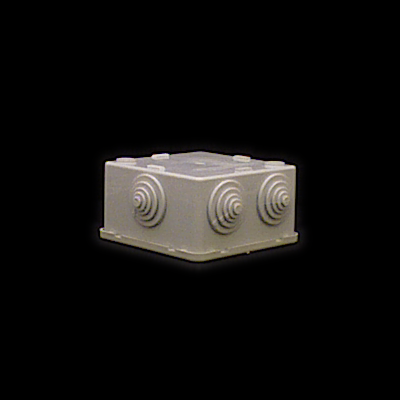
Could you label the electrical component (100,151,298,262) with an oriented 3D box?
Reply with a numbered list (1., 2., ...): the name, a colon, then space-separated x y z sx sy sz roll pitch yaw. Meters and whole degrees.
1. electrical component: 0.000 0.000 0.646 0.100 0.049 0.099 -9 15 -44
